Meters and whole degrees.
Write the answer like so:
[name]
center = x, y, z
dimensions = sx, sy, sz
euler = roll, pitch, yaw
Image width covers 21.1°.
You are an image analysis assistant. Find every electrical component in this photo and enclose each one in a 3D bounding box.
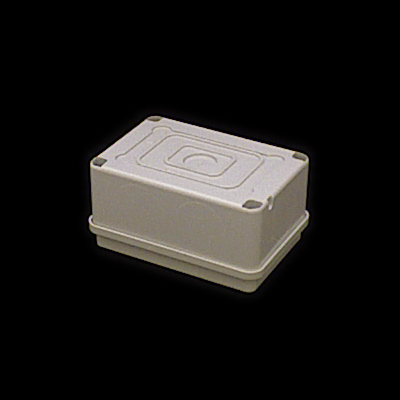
[electrical component]
center = 0.000, 0.000, 0.635
dimensions = 0.112, 0.058, 0.077
euler = 16, 34, 23
